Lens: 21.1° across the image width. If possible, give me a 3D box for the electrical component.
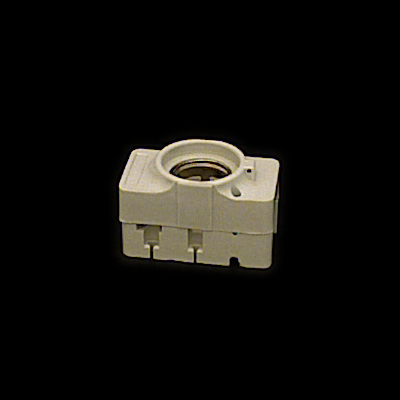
[{"bbox_3d":[0.000,0.000,0.642,0.089,0.056,0.049,4,32,5],"label":"electrical component"}]
